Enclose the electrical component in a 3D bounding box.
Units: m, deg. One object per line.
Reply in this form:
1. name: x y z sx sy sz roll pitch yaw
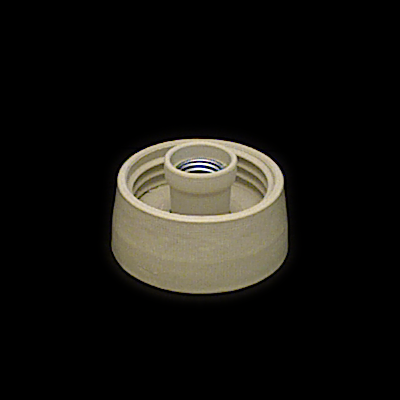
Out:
1. electrical component: 0.000 0.000 0.642 0.108 0.061 0.106 1 32 0
